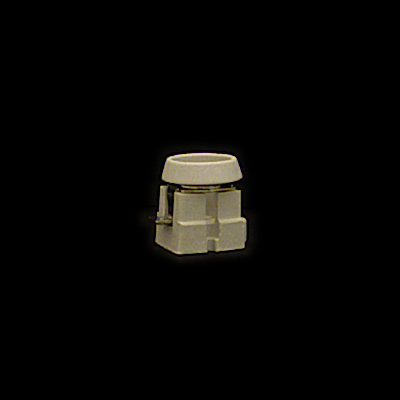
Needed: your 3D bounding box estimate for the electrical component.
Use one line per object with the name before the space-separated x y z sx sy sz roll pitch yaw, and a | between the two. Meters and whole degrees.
electrical component | 0.000 0.000 0.650 0.067 0.056 0.048 -5 11 -27
